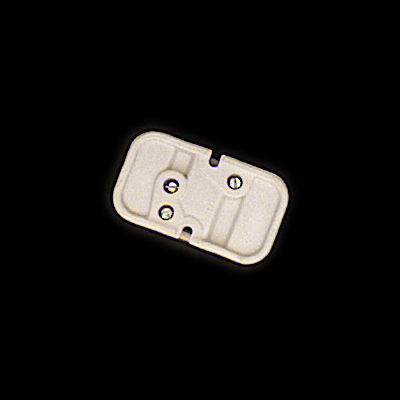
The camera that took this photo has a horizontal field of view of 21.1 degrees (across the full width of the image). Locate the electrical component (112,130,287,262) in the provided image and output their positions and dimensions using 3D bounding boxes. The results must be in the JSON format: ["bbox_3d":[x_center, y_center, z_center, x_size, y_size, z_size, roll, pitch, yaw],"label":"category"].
[{"bbox_3d":[0.000,0.000,0.637,0.095,0.054,0.059,20,-5,2],"label":"electrical component"}]
